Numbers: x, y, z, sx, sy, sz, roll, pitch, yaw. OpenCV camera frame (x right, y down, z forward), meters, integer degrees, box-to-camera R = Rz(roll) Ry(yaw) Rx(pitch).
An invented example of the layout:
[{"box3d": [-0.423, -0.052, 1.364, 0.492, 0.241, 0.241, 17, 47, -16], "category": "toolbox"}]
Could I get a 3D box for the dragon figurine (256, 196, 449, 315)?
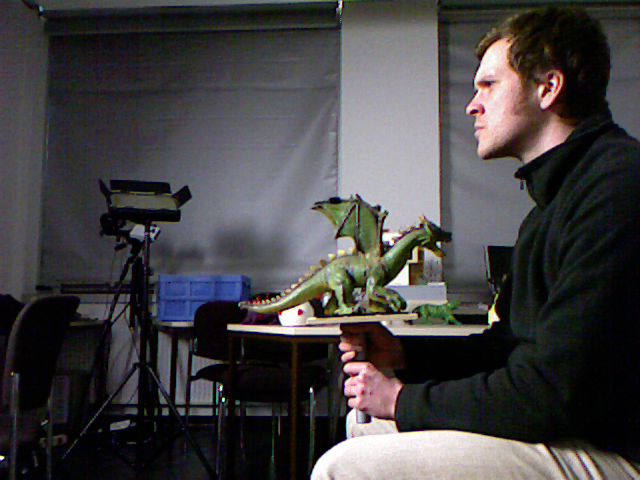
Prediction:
[{"box3d": [0.054, 0.032, 1.049, 0.410, 0.243, 0.122, -4, -3, 12], "category": "dragon figurine"}]
